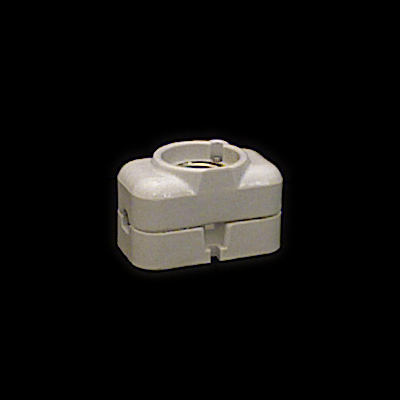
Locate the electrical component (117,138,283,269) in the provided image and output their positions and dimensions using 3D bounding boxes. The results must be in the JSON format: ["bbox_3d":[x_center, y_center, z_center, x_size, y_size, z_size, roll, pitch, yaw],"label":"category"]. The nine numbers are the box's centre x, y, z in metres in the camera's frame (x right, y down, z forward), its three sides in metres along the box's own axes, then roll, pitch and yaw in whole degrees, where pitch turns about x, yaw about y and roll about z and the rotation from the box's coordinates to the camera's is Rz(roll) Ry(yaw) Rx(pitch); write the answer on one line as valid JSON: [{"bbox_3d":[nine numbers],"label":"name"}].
[{"bbox_3d":[0.000,0.000,0.647,0.096,0.060,0.052,-7,24,-22],"label":"electrical component"}]
